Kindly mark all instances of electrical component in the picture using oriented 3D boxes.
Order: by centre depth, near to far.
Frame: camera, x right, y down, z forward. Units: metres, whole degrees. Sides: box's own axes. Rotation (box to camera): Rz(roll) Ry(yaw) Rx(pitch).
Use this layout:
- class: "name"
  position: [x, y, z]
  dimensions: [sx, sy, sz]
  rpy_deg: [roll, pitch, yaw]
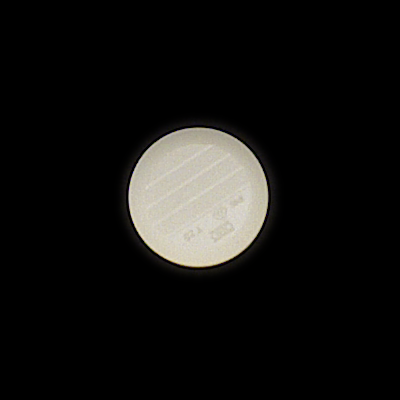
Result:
- class: "electrical component"
  position: [0.000, 0.000, 0.631]
  dimensions: [0.080, 0.080, 0.050]
  rpy_deg: [0, -7, 0]
